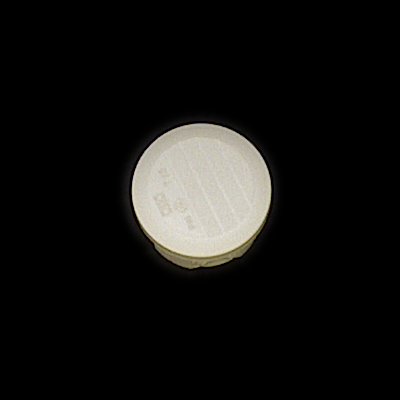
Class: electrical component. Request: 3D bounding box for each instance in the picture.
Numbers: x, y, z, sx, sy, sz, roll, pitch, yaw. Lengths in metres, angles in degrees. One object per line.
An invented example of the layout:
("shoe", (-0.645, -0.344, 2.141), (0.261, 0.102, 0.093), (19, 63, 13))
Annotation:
("electrical component", (0.000, 0.000, 0.631), (0.080, 0.080, 0.050), (0, -17, 0))
